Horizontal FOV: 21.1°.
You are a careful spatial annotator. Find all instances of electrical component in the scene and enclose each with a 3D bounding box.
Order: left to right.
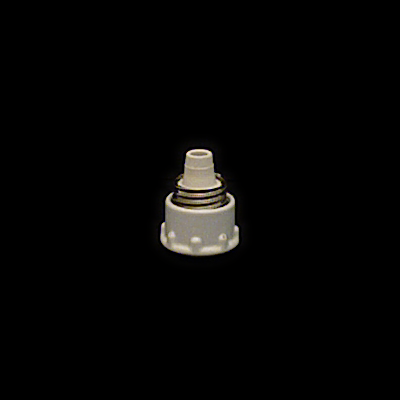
[{"bbox_3d":[0.000,0.000,0.644,0.048,0.063,0.047,0,22,1],"label":"electrical component"}]
